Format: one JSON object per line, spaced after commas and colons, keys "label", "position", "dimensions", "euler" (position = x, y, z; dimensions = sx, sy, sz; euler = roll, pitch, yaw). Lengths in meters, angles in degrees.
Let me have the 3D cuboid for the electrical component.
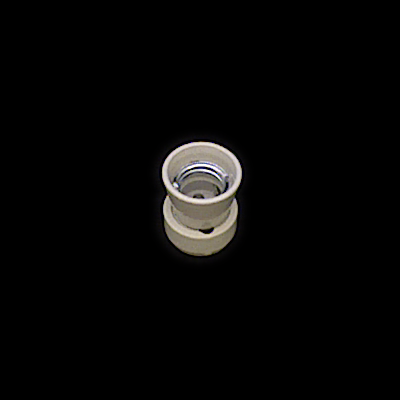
{"label": "electrical component", "position": [0.000, 0.000, 0.631], "dimensions": [0.045, 0.044, 0.055], "euler": [0, -38, -1]}
